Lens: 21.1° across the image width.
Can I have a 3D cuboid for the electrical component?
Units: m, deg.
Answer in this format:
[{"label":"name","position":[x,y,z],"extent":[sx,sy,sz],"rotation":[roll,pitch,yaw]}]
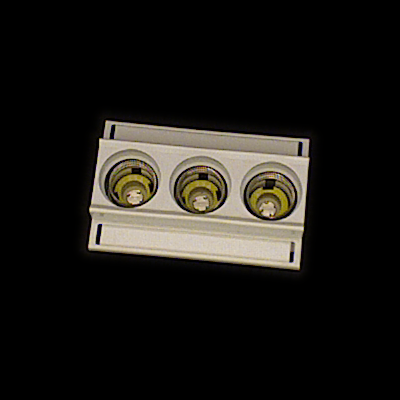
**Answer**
[{"label":"electrical component","position":[0.000,0.000,0.638],"extent":[0.121,0.079,0.063],"rotation":[6,-18,2]}]
